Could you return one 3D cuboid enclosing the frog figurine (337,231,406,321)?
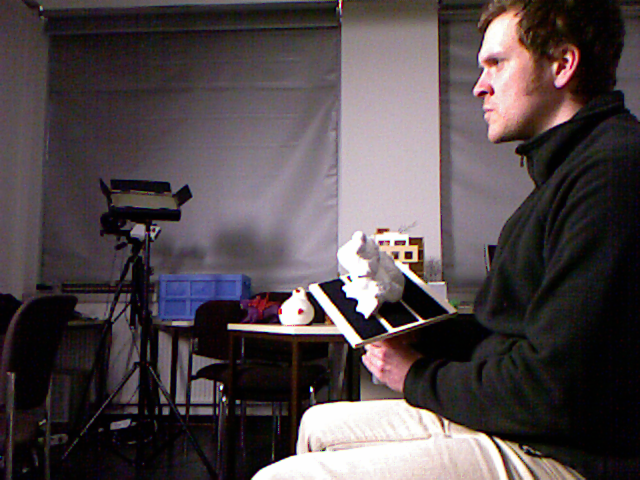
[{"bbox_3d":[0.092,0.046,0.915,0.123,0.156,0.141,-4,31,-3],"label":"frog figurine"}]
